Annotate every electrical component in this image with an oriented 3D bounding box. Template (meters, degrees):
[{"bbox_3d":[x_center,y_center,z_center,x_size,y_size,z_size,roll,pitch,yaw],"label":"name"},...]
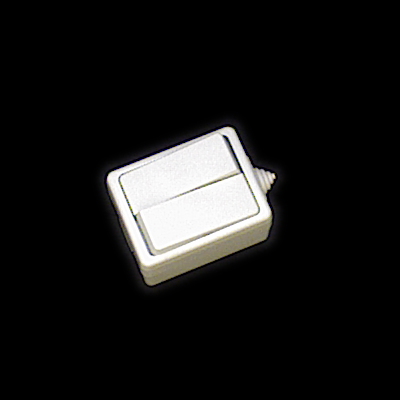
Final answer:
[{"bbox_3d":[0.000,0.000,0.626,0.096,0.062,0.060,-22,-16,-6],"label":"electrical component"}]
